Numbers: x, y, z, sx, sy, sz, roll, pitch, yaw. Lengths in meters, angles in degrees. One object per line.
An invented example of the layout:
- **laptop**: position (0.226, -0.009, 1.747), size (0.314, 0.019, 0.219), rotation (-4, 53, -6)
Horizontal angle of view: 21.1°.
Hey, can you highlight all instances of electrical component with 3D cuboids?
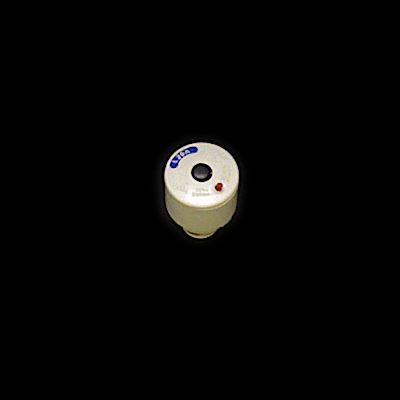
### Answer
- **electrical component**: position (0.000, 0.000, 0.617), size (0.040, 0.040, 0.078), rotation (0, -27, 0)
